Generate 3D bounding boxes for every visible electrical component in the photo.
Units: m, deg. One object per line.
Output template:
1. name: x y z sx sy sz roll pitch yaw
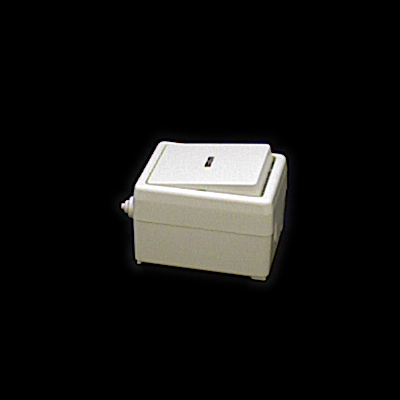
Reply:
1. electrical component: 0.000 0.000 0.635 0.096 0.061 0.061 7 32 10
